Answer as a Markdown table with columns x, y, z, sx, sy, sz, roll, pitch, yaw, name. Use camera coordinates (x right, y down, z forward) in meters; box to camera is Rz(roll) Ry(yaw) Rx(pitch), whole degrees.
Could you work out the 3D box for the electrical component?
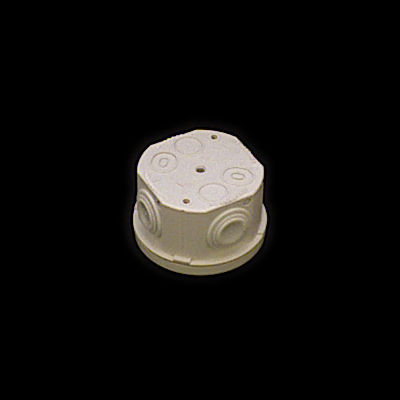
| x | y | z | sx | sy | sz | roll | pitch | yaw | name |
| --- | --- | --- | --- | --- | --- | --- | --- | --- | --- |
| 0.000 | 0.000 | 0.633 | 0.080 | 0.051 | 0.080 | 0 | 43 | 0 | electrical component |
